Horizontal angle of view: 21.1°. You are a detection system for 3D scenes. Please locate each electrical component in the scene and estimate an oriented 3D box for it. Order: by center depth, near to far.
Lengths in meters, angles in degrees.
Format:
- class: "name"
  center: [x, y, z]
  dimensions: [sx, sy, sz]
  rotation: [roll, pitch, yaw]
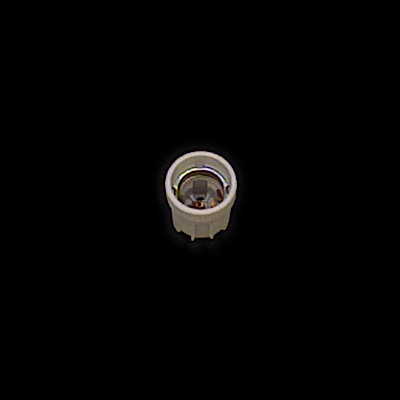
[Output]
- class: "electrical component"
  center: [0.000, 0.000, 0.627]
  dimensions: [0.040, 0.040, 0.046]
  rotation: [0, -27, 0]
